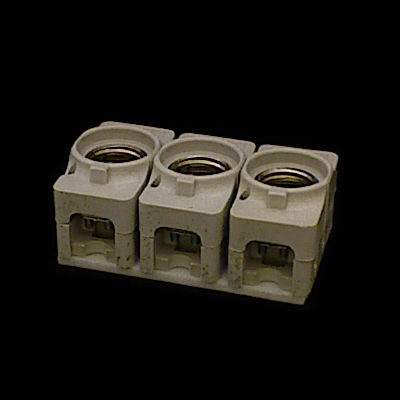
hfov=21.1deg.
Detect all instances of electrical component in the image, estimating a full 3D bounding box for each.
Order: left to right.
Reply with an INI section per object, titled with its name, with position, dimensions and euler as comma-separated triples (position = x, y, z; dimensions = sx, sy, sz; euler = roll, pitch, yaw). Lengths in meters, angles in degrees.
[electrical component]
position = 0.000, 0.000, 0.639
dimensions = 0.150, 0.063, 0.088
euler = 8, 32, 13
